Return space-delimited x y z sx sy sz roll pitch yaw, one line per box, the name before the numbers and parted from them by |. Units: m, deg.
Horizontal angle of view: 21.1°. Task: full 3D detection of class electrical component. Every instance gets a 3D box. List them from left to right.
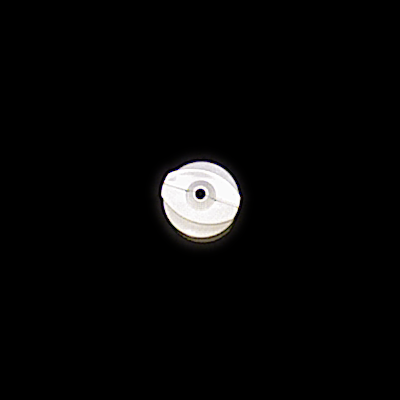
electrical component | 0.000 0.000 0.616 0.043 0.043 0.080 0 -6 1
